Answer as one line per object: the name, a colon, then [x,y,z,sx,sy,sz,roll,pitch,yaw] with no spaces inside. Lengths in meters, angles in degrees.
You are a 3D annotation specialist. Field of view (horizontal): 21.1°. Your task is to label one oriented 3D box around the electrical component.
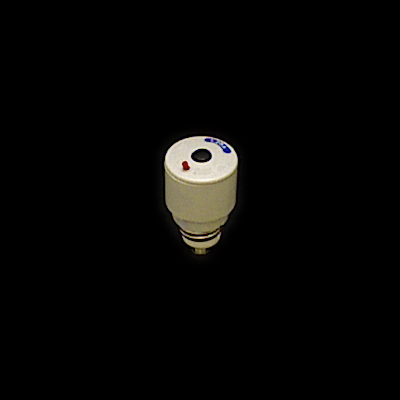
electrical component: [0.000,0.000,0.623,0.040,0.079,0.039,0,42,0]
